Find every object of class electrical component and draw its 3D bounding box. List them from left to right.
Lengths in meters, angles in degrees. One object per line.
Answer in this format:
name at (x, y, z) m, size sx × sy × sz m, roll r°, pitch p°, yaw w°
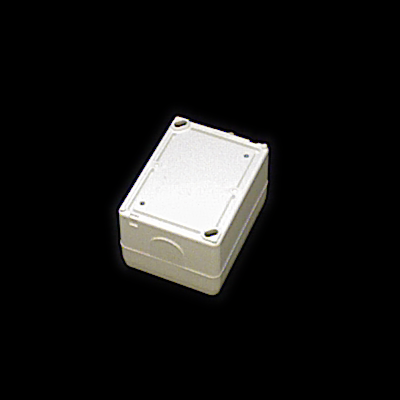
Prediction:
electrical component at (0.000, 0.000, 0.633) m, size 0.061 × 0.095 × 0.061 m, roll 18°, pitch -36°, yaw 14°
